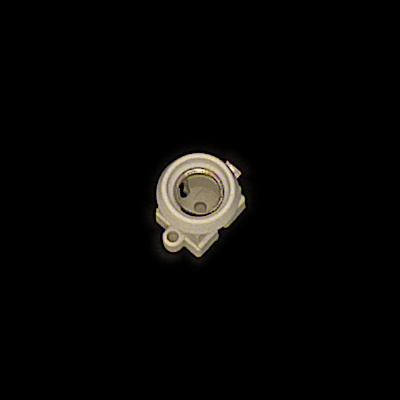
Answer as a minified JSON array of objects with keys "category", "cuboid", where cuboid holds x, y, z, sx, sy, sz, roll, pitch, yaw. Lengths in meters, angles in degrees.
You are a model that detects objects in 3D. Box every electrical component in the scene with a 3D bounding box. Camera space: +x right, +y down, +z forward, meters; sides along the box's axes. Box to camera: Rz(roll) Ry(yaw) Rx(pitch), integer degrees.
[{"category":"electrical component","cuboid":[0.000,0.000,0.638,0.048,0.067,0.055,40,-12,9]}]
